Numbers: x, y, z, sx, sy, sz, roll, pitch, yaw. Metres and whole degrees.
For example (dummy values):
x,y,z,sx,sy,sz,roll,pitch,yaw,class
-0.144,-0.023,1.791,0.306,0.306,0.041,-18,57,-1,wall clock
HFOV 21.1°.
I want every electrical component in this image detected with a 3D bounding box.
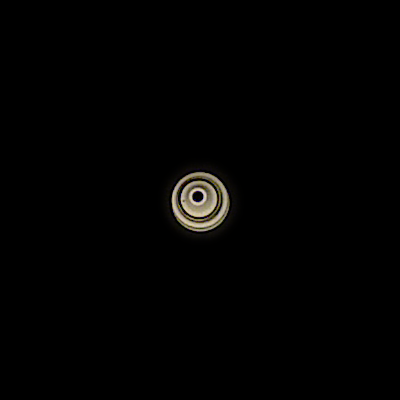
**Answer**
x,y,z,sx,sy,sz,roll,pitch,yaw,class
0.000,0.000,0.637,0.035,0.035,0.061,0,-4,2,electrical component
